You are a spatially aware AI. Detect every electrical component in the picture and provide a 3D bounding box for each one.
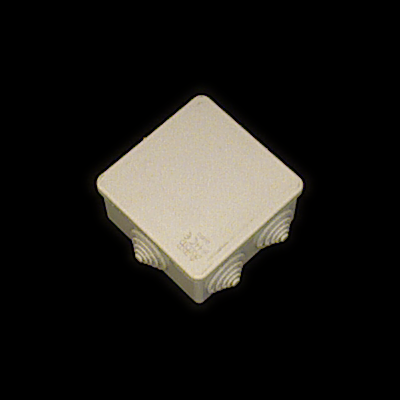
[{"bbox_3d":[0.000,0.000,0.639,0.100,0.099,0.048,-41,-19,-18],"label":"electrical component"}]
